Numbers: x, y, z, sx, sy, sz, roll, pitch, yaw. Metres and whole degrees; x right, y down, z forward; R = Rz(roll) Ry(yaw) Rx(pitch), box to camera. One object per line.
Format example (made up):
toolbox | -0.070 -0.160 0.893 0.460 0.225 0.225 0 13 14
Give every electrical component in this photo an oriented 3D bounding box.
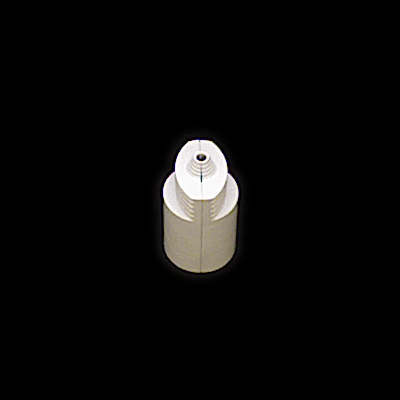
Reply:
electrical component | 0.000 0.000 0.619 0.043 0.043 0.081 0 -38 0
